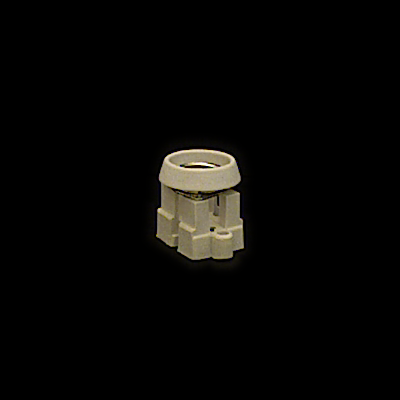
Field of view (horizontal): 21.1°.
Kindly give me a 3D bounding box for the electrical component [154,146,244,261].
[{"bbox_3d":[0.000,0.000,0.647,0.049,0.056,0.065,-12,25,-33],"label":"electrical component"}]
